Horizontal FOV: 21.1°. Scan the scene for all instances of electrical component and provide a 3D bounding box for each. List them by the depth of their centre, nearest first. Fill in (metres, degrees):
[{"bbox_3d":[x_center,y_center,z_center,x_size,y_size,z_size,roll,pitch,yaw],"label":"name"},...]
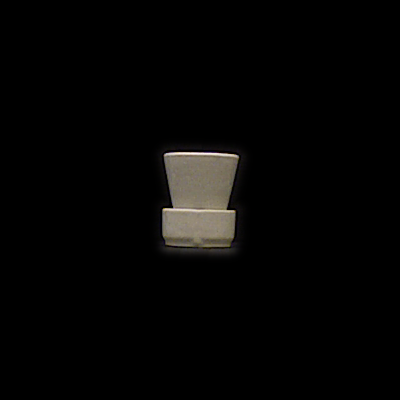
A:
[{"bbox_3d":[0.000,0.000,0.651,0.045,0.055,0.044,2,1,0],"label":"electrical component"}]
